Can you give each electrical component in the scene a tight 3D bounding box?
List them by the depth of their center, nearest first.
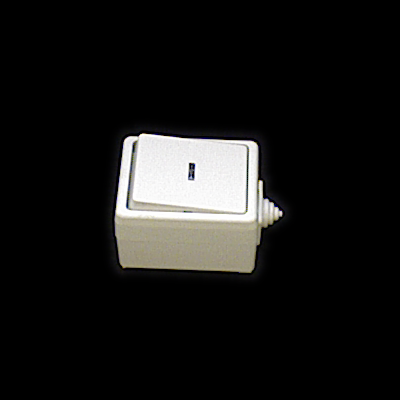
[{"bbox_3d":[0.000,0.000,0.627,0.096,0.061,0.061,2,-38,1],"label":"electrical component"}]
